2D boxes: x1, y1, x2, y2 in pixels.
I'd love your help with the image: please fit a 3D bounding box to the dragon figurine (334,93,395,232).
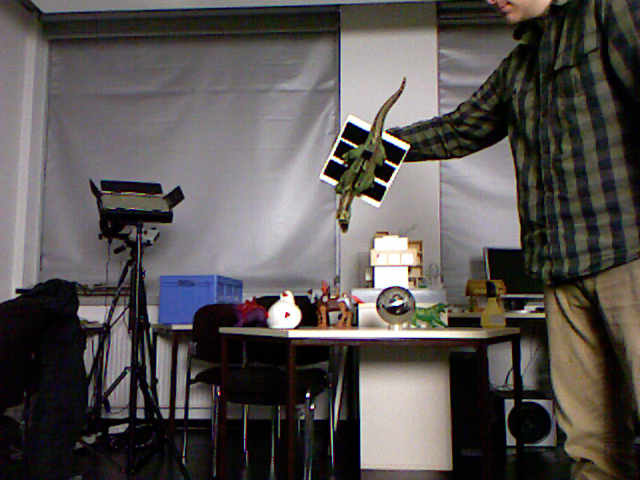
[{"bbox_3d":[0.129,-0.221,1.433,0.122,0.407,0.245,20,12,-2],"label":"dragon figurine"}]
